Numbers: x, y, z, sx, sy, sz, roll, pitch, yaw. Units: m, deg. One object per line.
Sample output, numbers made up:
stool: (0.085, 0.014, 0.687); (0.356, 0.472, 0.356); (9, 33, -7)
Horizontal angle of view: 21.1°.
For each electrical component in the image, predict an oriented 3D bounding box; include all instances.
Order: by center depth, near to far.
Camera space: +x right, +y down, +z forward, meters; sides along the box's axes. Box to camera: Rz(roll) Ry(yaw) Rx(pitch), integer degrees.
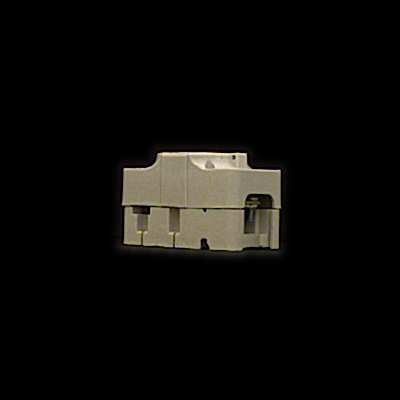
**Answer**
electrical component: (0.000, 0.000, 0.656); (0.089, 0.056, 0.050); (2, 1, 39)
